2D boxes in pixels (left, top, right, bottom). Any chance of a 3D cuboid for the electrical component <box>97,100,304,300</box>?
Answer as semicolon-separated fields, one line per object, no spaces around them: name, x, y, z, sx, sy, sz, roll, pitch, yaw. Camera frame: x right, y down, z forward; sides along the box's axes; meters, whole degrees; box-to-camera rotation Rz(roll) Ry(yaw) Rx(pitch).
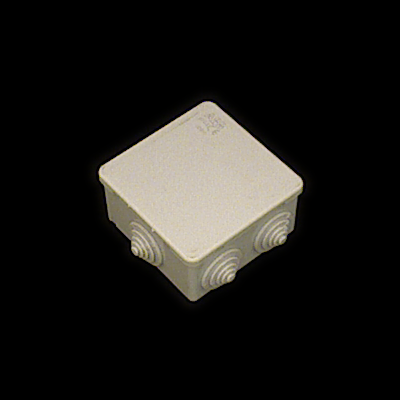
electrical component;0.000;0.000;0.641;0.100;0.099;0.049;-34;-30;-23
